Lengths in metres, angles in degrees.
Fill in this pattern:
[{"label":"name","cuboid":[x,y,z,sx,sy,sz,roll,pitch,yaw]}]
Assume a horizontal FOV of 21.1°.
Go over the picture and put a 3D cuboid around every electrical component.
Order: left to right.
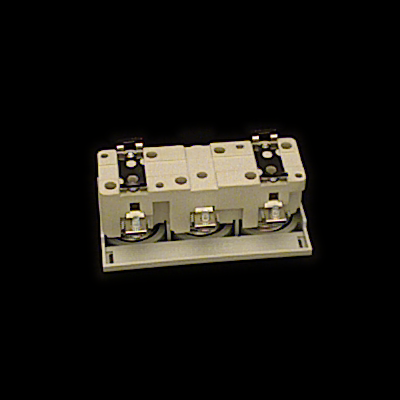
[{"label":"electrical component","cuboid":[0.000,0.000,0.640,0.122,0.063,0.077,-4,42,-6]}]
